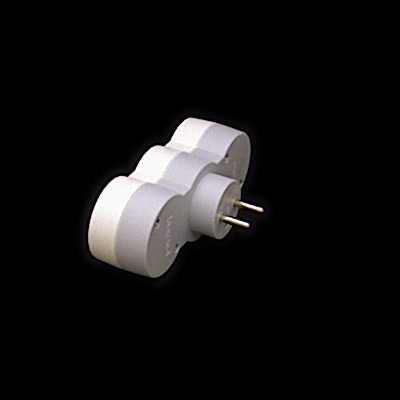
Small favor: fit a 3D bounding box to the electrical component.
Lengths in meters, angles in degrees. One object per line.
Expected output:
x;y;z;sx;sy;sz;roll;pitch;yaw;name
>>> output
0.000;0.000;0.639;0.073;0.053;0.137;17;34;21;electrical component
